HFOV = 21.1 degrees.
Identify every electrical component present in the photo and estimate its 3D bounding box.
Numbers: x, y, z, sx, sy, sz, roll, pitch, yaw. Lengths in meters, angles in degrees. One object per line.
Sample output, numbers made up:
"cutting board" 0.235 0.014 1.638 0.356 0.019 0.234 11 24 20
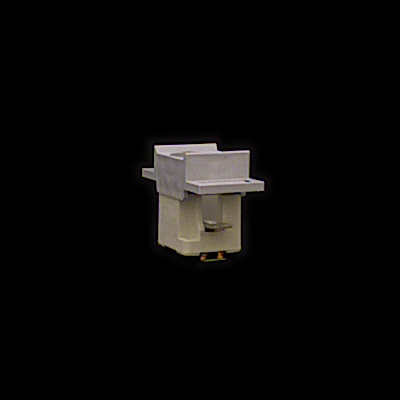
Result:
"electrical component" 0.000 0.000 0.641 0.042 0.064 0.080 -3 11 -26
